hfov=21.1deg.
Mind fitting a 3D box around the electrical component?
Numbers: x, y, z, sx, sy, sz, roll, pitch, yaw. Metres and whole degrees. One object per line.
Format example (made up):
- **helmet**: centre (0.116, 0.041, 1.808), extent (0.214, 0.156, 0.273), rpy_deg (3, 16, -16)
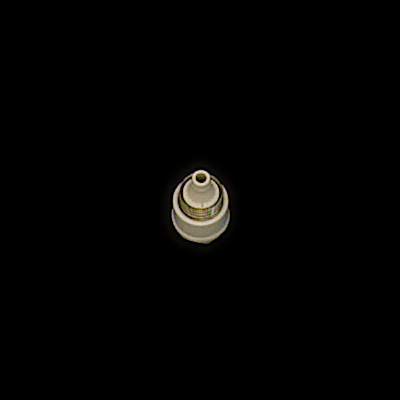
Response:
- **electrical component**: centre (0.000, 0.000, 0.638), extent (0.035, 0.035, 0.061), rpy_deg (0, -26, 0)
